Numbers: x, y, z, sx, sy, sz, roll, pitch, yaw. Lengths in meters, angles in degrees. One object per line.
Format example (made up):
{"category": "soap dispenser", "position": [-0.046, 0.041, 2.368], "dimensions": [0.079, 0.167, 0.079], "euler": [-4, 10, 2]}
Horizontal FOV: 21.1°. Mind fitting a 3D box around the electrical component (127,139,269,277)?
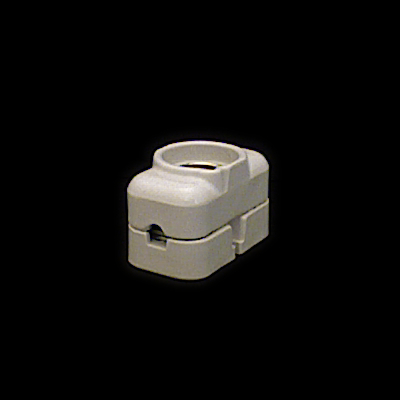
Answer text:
{"category": "electrical component", "position": [0.000, 0.000, 0.645], "dimensions": [0.053, 0.060, 0.095], "euler": [13, 25, 29]}
